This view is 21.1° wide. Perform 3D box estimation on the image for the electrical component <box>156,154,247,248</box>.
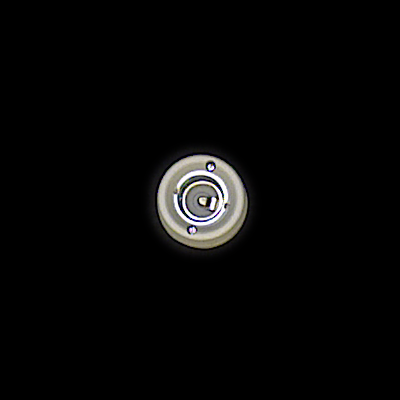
[{"bbox_3d":[0.000,0.000,0.633,0.055,0.055,0.047,0,-6,1],"label":"electrical component"}]
